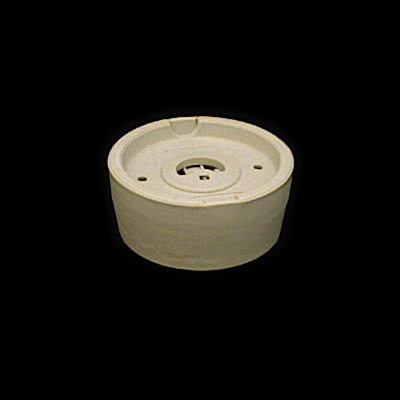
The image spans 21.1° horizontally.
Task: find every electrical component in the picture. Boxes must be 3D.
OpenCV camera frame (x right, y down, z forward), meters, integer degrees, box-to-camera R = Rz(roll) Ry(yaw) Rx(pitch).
[{"bbox_3d":[0.000,0.000,0.639,0.108,0.061,0.106,1,31,0],"label":"electrical component"}]
